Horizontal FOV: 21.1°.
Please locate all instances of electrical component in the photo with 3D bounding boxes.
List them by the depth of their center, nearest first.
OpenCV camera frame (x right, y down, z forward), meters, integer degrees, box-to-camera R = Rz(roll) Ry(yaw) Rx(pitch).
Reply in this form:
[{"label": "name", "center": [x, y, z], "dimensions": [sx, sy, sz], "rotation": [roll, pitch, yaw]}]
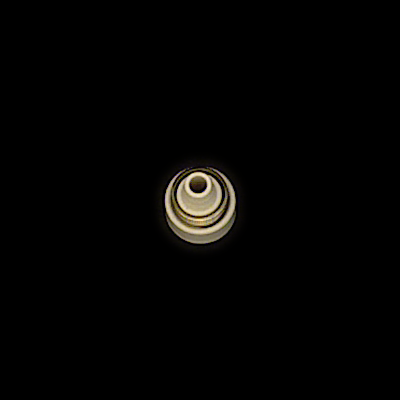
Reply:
[{"label": "electrical component", "center": [0.000, 0.000, 0.634], "dimensions": [0.043, 0.043, 0.061], "rotation": [0, -17, 1]}]
